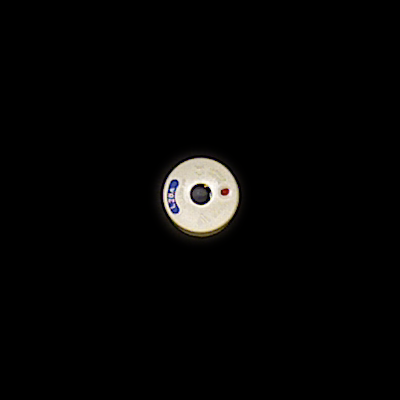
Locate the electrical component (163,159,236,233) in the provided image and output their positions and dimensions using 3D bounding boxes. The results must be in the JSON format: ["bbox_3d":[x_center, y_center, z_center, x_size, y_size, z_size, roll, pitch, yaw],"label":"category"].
[{"bbox_3d":[0.000,0.000,0.617,0.040,0.040,0.078,0,-6,0],"label":"electrical component"}]
